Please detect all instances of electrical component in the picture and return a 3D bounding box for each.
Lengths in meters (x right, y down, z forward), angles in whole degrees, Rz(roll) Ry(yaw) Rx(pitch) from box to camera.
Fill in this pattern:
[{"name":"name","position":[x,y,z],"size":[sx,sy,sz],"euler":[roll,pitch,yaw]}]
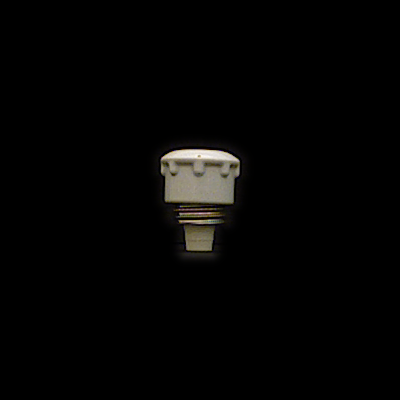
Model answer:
[{"name":"electrical component","position":[0.000,0.000,0.655],"size":[0.048,0.062,0.048],"euler":[2,1,1]}]
